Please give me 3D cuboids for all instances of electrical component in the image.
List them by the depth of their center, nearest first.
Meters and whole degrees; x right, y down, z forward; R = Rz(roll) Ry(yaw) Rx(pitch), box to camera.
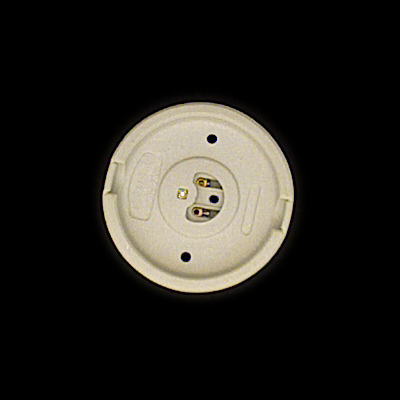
[{"bbox_3d":[0.000,0.000,0.635,0.108,0.108,0.060,0,-6,0],"label":"electrical component"}]
